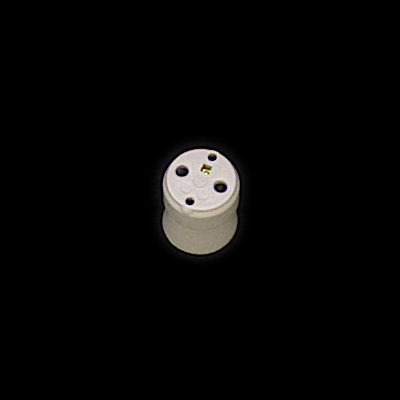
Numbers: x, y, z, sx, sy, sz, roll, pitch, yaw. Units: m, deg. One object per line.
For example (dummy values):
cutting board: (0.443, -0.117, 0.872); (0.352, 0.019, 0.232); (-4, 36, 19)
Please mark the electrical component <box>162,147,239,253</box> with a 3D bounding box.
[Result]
electrical component: (0.000, 0.000, 0.629); (0.045, 0.045, 0.055); (0, -26, 0)
